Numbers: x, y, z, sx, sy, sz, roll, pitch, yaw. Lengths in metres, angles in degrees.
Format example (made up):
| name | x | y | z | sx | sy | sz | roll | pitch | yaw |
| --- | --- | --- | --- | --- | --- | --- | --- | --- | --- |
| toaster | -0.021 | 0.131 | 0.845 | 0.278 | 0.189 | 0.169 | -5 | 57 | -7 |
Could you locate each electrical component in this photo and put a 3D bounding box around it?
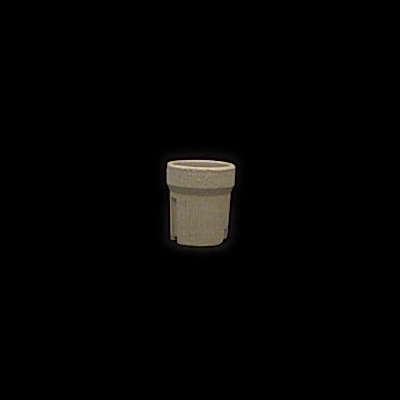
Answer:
| name | x | y | z | sx | sy | sz | roll | pitch | yaw |
| --- | --- | --- | --- | --- | --- | --- | --- | --- | --- |
| electrical component | 0.000 | 0.000 | 0.645 | 0.040 | 0.046 | 0.040 | 1 | 11 | 0 |
